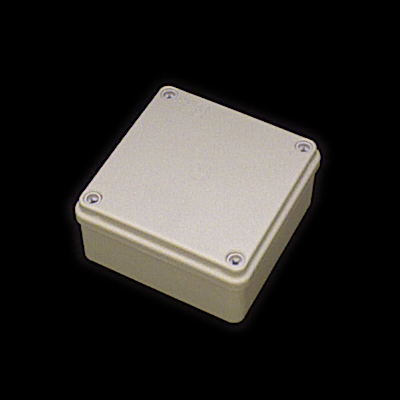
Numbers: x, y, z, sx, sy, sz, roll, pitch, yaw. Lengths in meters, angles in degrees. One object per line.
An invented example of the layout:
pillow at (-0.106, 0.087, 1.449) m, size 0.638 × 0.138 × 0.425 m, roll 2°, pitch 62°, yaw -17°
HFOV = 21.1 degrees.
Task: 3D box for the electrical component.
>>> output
electrical component at (0.000, 0.000, 0.629) m, size 0.108 × 0.109 × 0.056 m, roll 23°, pitch -34°, yaw 16°
